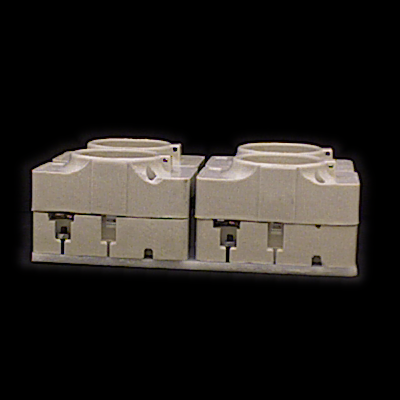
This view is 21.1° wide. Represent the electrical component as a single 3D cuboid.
[{"bbox_3d":[0.000,0.000,0.645,0.186,0.060,0.105,2,10,5],"label":"electrical component"}]
